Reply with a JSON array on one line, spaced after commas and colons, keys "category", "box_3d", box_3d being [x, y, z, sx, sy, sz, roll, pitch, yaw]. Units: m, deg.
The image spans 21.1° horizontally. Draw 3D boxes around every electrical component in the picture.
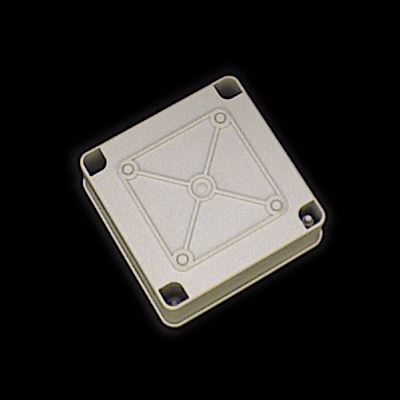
[{"category": "electrical component", "box_3d": [0.000, 0.000, 0.628, 0.109, 0.109, 0.056, -29, -14, -9]}]
